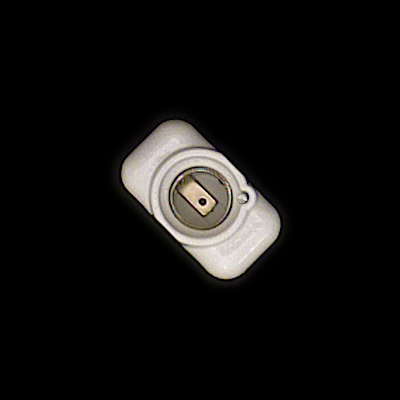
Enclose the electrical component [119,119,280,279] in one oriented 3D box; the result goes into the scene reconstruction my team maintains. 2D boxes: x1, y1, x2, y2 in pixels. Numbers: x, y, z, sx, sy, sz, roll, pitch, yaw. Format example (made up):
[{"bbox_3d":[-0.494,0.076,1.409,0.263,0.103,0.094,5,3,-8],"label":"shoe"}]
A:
[{"bbox_3d":[0.000,0.000,0.635,0.095,0.054,0.059,44,-3,4],"label":"electrical component"}]
